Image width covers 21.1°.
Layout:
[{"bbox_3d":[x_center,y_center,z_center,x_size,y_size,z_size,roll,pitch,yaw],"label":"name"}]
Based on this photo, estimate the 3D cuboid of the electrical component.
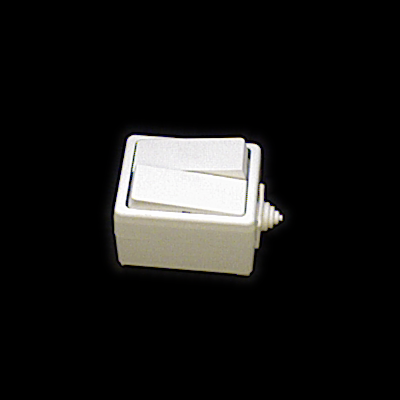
[{"bbox_3d":[0.000,0.000,0.628,0.096,0.061,0.061,5,-38,3],"label":"electrical component"}]
